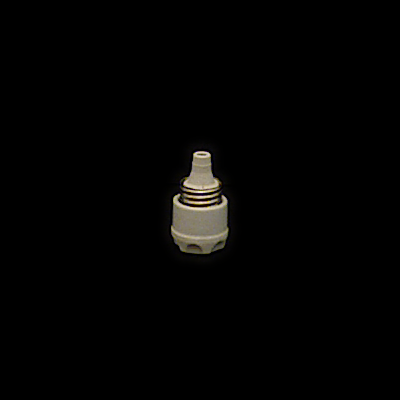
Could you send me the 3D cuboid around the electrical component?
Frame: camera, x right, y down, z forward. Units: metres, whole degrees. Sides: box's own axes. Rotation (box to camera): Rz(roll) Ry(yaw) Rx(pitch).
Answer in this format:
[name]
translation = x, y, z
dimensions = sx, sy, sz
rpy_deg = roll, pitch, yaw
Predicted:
[electrical component]
translation = 0.000, 0.000, 0.653
dimensions = 0.035, 0.062, 0.034
rpy_deg = 2, 23, 0
